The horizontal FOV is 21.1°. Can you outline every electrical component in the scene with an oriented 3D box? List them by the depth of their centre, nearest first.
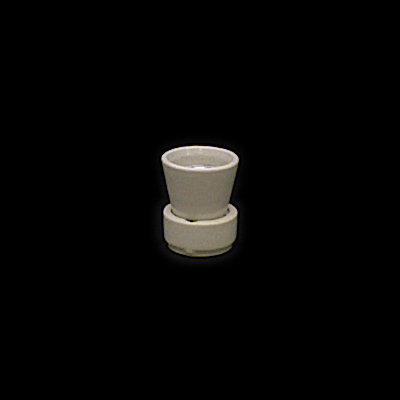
[{"bbox_3d":[0.000,0.000,0.638,0.045,0.056,0.044,1,21,0],"label":"electrical component"}]
